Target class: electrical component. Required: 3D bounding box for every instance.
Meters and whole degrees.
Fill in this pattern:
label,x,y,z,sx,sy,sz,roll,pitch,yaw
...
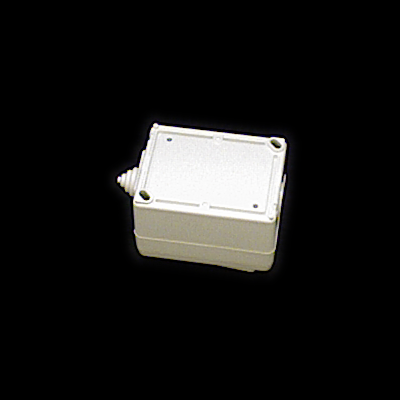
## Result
label,x,y,z,sx,sy,sz,roll,pitch,yaw
electrical component,0.000,0.000,0.627,0.096,0.061,0.061,7,-37,5
